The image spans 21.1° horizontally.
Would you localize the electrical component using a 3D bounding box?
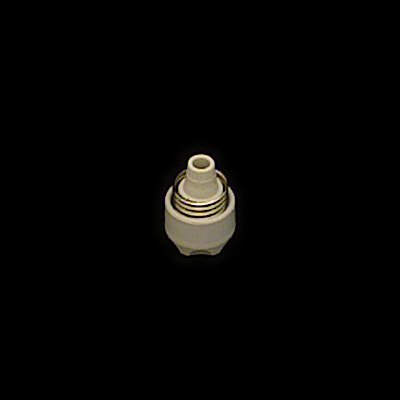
[{"bbox_3d":[0.000,0.000,0.637,0.043,0.062,0.043,1,44,0],"label":"electrical component"}]
